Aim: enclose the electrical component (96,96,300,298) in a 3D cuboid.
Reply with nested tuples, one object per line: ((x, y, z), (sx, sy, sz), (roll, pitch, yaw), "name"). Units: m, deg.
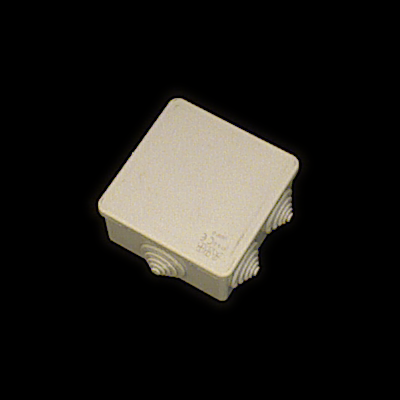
((0.000, 0.000, 0.639), (0.099, 0.100, 0.048), (28, -23, 13), "electrical component")
